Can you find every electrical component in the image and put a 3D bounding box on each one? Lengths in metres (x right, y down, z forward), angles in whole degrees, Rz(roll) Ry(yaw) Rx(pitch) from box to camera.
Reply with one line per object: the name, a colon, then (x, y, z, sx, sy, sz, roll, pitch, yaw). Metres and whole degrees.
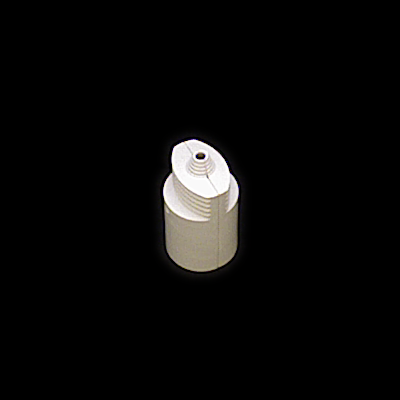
electrical component: (0.000, 0.000, 0.620, 0.043, 0.043, 0.081, 0, -38, 0)
